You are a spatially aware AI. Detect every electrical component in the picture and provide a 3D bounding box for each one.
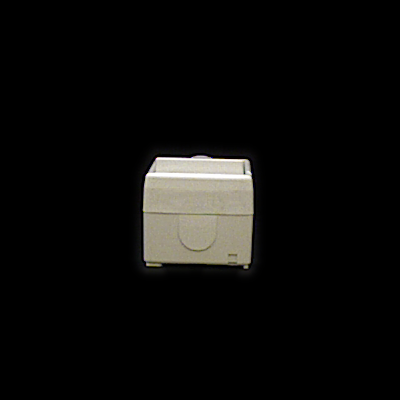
[{"bbox_3d":[0.000,0.000,0.646,0.062,0.061,0.095,1,10,1],"label":"electrical component"}]
